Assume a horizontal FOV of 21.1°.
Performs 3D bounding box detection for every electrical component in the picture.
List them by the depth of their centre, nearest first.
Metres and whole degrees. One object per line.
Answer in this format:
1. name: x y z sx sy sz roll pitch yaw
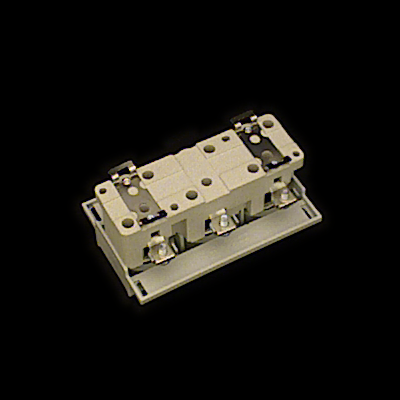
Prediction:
1. electrical component: 0.000 0.000 0.636 0.122 0.078 0.063 -24 -34 -17
